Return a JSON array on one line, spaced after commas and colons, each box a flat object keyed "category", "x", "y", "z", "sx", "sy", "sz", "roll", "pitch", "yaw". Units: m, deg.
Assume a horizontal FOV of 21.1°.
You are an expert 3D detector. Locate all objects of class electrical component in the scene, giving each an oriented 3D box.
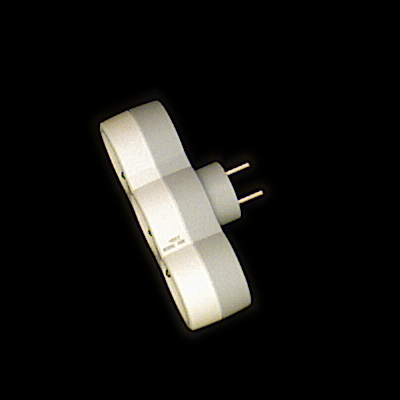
[{"category": "electrical component", "x": 0.000, "y": 0.000, "z": 0.638, "sx": 0.074, "sy": 0.138, "sz": 0.052, "roll": -23, "pitch": -15, "yaw": -8}]
